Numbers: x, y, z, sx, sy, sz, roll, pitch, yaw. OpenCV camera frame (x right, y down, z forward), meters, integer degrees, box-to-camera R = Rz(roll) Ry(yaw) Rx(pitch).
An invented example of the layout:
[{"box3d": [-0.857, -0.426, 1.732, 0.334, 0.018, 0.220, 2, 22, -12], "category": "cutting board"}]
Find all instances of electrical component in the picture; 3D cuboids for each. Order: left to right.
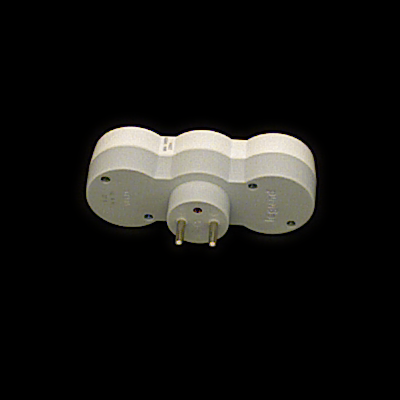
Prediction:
[{"box3d": [0.000, 0.000, 0.639, 0.138, 0.052, 0.073, 3, 44, 2], "category": "electrical component"}]
